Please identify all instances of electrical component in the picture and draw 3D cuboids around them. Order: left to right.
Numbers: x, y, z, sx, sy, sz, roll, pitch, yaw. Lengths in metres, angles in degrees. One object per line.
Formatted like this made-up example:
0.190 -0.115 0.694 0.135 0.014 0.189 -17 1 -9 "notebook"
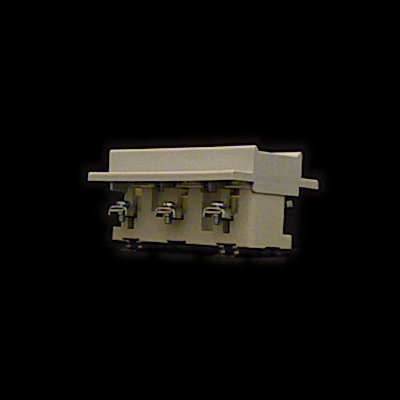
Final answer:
0.000 0.000 0.664 0.121 0.063 0.079 2 0 43 "electrical component"
